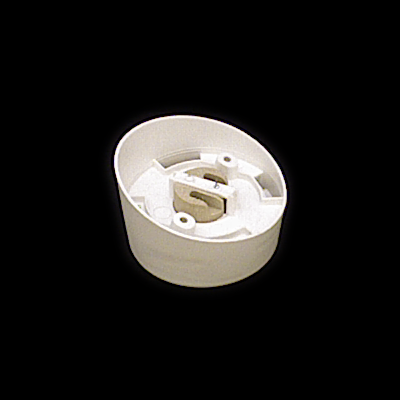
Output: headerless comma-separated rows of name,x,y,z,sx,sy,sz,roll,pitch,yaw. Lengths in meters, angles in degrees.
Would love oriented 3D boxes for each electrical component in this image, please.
electrical component,0.000,0.000,0.629,0.099,0.065,0.098,0,42,0
